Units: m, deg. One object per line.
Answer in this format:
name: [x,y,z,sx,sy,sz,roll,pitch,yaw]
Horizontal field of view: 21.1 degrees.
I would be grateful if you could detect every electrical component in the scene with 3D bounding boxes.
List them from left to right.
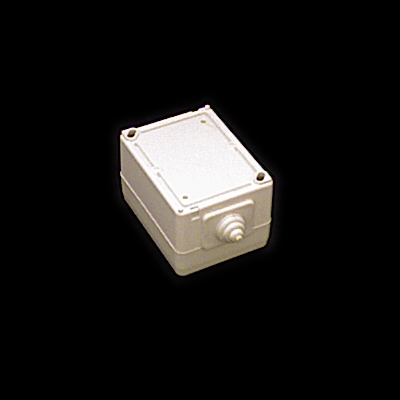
electrical component: [0.000,0.000,0.629,0.062,0.061,0.095,-19,47,-21]
